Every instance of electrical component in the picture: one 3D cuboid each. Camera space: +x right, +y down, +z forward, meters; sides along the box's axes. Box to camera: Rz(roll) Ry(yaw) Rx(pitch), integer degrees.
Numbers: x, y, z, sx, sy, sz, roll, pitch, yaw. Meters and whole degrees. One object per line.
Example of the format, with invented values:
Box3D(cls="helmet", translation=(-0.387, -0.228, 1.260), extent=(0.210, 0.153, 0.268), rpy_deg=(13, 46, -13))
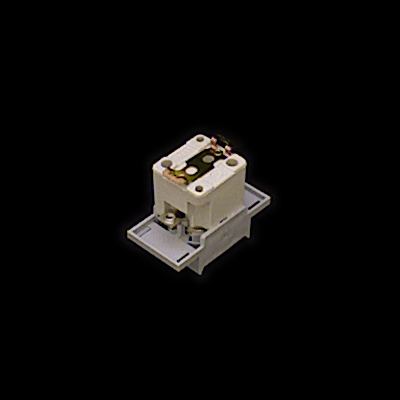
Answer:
Box3D(cls="electrical component", translation=(0.000, 0.000, 0.629), extent=(0.042, 0.064, 0.080), rpy_deg=(32, 50, 30))
